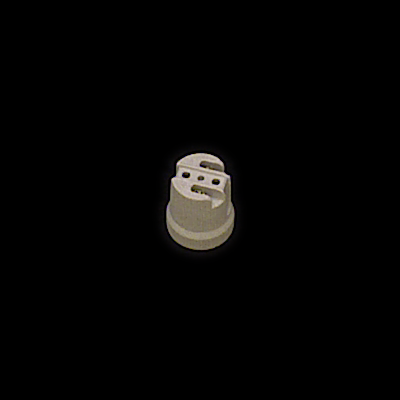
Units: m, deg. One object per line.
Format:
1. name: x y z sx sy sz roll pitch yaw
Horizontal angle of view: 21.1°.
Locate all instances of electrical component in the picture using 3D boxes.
1. electrical component: 0.000 0.000 0.633 0.040 0.040 0.046 0 -37 0
